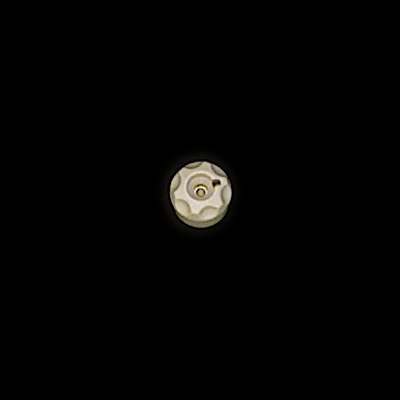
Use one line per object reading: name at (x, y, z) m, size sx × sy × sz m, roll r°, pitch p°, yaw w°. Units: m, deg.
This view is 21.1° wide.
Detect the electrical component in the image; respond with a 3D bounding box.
electrical component at (0.000, 0.000, 0.633) m, size 0.035 × 0.035 × 0.061 m, roll 0°, pitch -15°, yaw 1°
